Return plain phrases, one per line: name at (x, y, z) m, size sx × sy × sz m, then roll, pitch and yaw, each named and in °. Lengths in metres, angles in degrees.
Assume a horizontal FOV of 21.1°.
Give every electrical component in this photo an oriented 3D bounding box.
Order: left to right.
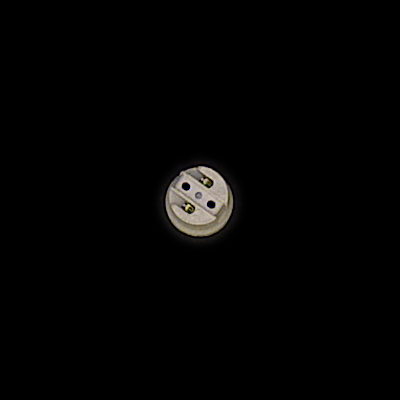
electrical component at (0.000, 0.000, 0.634) m, size 0.040 × 0.040 × 0.046 m, roll 0°, pitch -6°, yaw 0°
